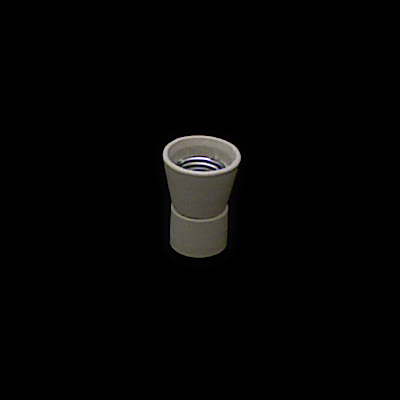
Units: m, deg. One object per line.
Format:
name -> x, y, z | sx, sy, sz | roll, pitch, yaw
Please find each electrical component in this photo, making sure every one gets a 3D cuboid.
electrical component -> 0.000, 0.000, 0.633 | 0.044, 0.066, 0.044 | 2, 32, -1
